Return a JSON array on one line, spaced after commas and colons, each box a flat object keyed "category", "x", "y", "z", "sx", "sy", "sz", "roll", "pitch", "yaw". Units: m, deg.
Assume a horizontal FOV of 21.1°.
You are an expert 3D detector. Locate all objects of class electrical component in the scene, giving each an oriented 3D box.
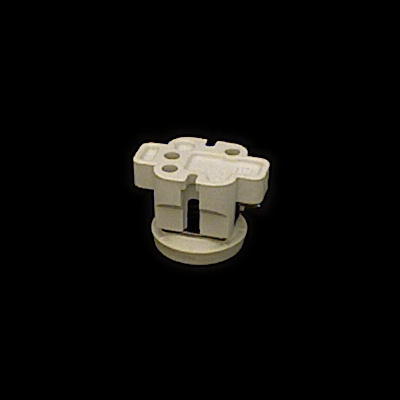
[{"category": "electrical component", "x": 0.000, "y": 0.000, "z": 0.643, "sx": 0.078, "sy": 0.057, "sz": 0.057, "roll": 9, "pitch": 32, "yaw": 9}]
